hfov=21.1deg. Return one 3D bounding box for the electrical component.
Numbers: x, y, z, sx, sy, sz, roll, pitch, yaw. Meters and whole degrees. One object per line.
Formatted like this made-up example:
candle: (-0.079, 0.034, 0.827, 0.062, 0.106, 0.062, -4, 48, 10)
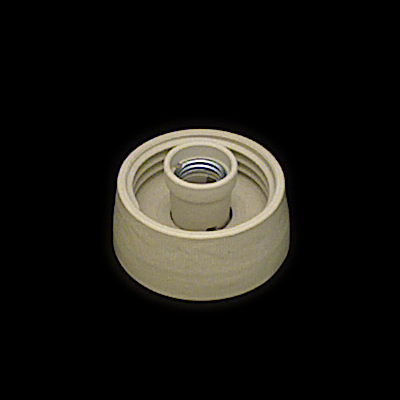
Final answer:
electrical component: (0.000, 0.000, 0.637, 0.108, 0.061, 0.107, 1, 43, 0)
